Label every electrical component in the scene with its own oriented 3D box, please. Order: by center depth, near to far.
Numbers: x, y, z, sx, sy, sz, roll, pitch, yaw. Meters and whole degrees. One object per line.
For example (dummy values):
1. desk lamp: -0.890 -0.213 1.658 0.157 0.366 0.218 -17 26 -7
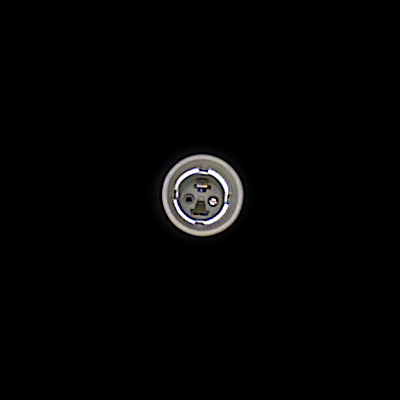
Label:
1. electrical component: 0.000 0.000 0.625 0.044 0.044 0.065 0 -6 -1
